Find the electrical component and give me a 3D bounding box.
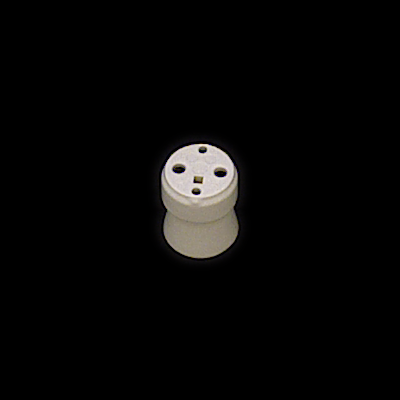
[{"bbox_3d":[0.000,0.000,0.630,0.045,0.044,0.055,0,-38,0],"label":"electrical component"}]
